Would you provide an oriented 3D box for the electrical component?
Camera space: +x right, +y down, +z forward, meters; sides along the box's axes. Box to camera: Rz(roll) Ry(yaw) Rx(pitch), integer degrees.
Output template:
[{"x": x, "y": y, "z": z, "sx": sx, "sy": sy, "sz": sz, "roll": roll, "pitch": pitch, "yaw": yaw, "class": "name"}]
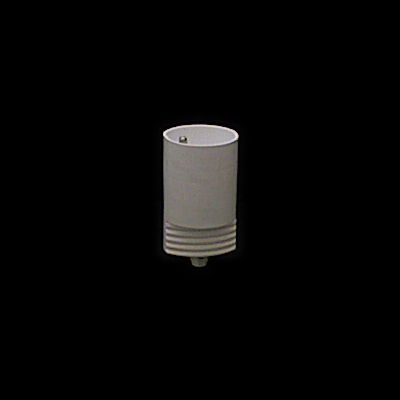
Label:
[{"x": 0.000, "y": 0.000, "z": 0.632, "sx": 0.043, "sy": 0.082, "sz": 0.042, "roll": 0, "pitch": 21, "yaw": 0, "class": "electrical component"}]
